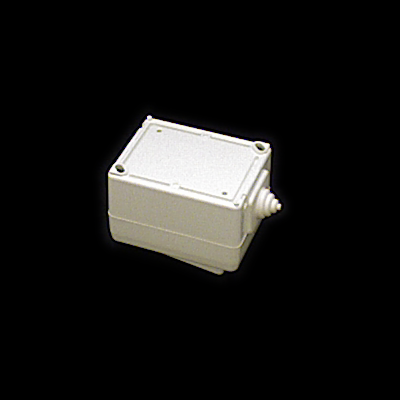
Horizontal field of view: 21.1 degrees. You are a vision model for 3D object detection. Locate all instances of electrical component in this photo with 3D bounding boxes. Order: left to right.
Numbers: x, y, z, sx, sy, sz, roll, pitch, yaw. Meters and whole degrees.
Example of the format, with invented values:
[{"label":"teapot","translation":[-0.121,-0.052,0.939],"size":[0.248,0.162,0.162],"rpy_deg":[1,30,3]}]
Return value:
[{"label":"electrical component","translation":[0.000,0.000,0.630],"size":[0.096,0.061,0.061],"rpy_deg":[14,43,15]}]
